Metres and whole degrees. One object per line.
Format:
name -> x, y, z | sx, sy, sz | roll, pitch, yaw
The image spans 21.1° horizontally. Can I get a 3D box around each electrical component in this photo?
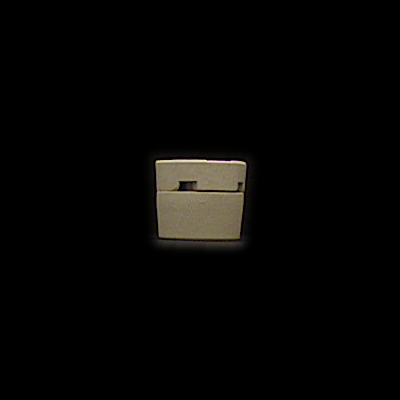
electrical component -> 0.000, 0.000, 0.650 | 0.055, 0.047, 0.055 | 2, 1, 0
